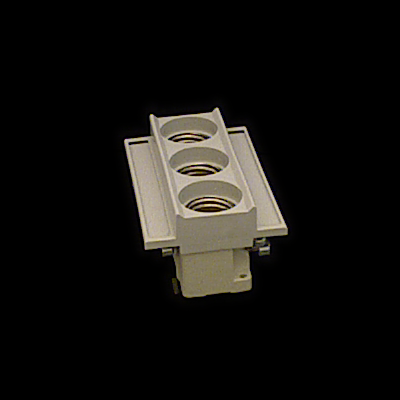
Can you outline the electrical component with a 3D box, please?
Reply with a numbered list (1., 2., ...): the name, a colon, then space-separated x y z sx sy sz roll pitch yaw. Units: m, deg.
1. electrical component: 0.000 0.000 0.645 0.079 0.064 0.119 -5 32 -7
